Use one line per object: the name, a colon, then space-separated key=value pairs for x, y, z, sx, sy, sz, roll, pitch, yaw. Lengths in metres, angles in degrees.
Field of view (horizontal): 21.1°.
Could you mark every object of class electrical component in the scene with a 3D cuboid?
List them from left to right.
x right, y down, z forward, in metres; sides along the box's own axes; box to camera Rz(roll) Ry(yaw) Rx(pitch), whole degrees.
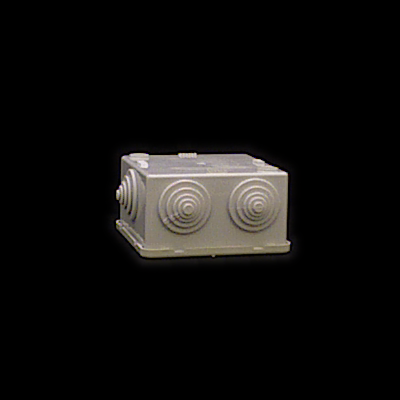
electrical component: x=0.000 y=0.000 z=0.646 sx=0.100 sy=0.049 sz=0.099 roll=-2 pitch=11 yaw=-15
